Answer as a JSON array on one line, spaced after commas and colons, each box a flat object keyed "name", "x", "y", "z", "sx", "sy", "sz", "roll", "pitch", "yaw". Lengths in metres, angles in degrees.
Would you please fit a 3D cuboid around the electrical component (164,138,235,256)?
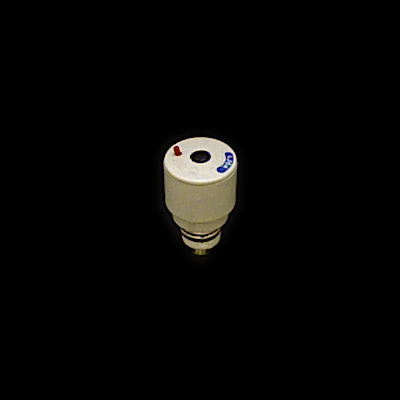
[{"name": "electrical component", "x": 0.000, "y": 0.000, "z": 0.625, "sx": 0.040, "sy": 0.079, "sz": 0.039, "roll": 0, "pitch": 42, "yaw": 0}]
